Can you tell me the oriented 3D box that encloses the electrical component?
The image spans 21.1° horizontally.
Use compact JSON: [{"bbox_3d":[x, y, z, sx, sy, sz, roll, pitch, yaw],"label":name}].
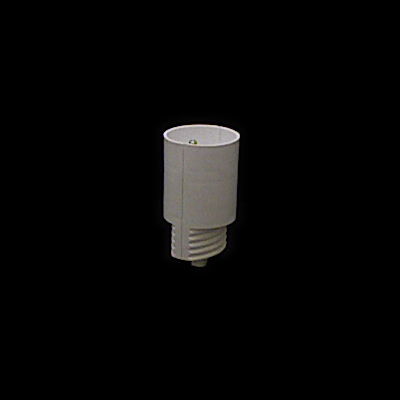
[{"bbox_3d":[0.000,0.000,0.632,0.043,0.082,0.042,0,21,0],"label":"electrical component"}]
